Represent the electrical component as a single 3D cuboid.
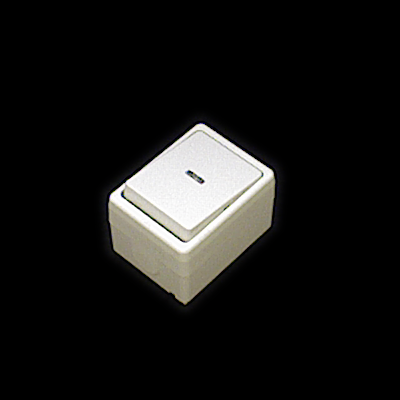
[{"bbox_3d":[0.000,0.000,0.628,0.061,0.061,0.096,36,60,24],"label":"electrical component"}]
